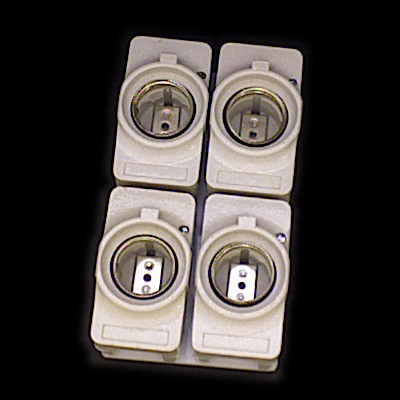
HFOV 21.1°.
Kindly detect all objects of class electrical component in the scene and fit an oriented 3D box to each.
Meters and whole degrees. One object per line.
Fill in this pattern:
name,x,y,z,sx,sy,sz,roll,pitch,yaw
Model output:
electrical component,0.000,0.000,0.625,0.105,0.187,0.060,5,-17,2
